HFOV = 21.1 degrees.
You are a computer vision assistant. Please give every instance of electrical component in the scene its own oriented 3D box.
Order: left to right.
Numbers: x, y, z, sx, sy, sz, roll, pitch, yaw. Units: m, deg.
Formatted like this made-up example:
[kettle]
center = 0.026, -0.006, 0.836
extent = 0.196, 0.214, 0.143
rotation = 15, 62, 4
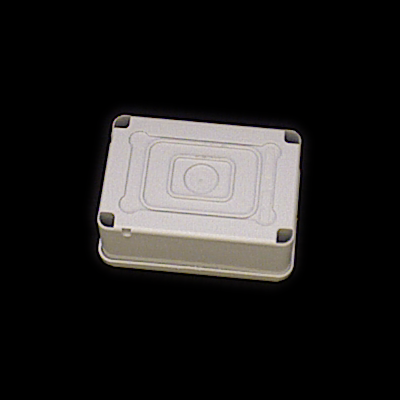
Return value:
[electrical component]
center = 0.000, 0.000, 0.628
extent = 0.113, 0.078, 0.057
rotation = 6, -27, 2
